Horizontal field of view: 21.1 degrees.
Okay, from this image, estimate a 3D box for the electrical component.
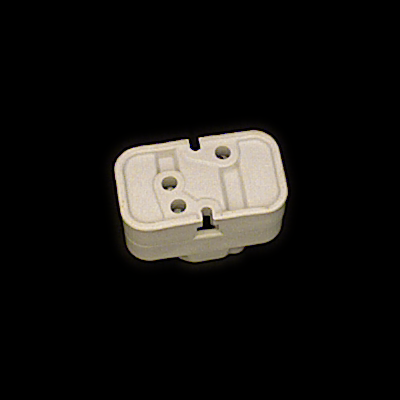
[{"bbox_3d":[0.000,0.000,0.634,0.095,0.053,0.059,-8,-26,-5],"label":"electrical component"}]
